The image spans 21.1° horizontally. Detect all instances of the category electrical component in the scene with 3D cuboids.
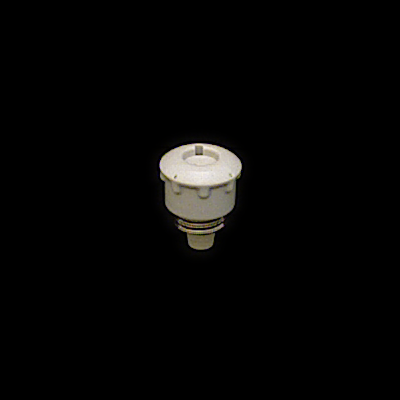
[{"bbox_3d":[0.000,0.000,0.641,0.048,0.063,0.047,1,32,0],"label":"electrical component"}]
